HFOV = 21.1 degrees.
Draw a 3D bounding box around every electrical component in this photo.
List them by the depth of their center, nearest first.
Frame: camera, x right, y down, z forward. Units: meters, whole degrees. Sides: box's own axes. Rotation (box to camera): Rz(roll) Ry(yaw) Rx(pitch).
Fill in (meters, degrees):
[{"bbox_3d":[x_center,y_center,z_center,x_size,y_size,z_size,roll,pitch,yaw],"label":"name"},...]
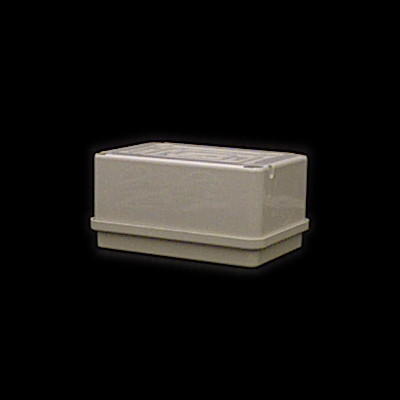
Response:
[{"bbox_3d":[0.000,0.000,0.644,0.112,0.057,0.078,6,12,27],"label":"electrical component"}]
